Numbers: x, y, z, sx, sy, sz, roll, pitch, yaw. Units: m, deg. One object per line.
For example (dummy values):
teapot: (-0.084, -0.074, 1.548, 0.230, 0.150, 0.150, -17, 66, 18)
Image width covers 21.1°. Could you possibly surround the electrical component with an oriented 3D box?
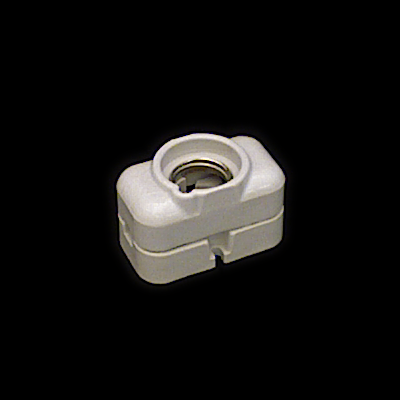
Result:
electrical component: (0.000, 0.000, 0.637, 0.095, 0.060, 0.053, -18, 45, -19)
